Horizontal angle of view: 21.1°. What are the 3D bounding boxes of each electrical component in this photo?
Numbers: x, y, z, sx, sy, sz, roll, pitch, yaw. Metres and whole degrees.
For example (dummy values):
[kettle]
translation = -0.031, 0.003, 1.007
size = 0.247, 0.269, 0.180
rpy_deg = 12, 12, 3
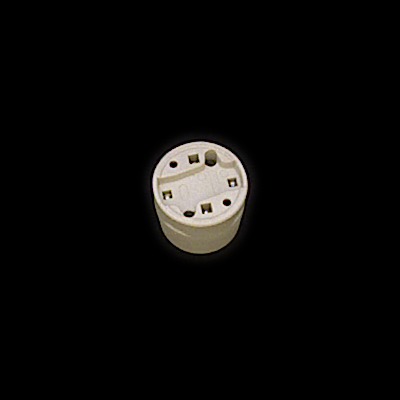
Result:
[electrical component]
translation = 0.000, 0.000, 0.635
size = 0.055, 0.056, 0.047
rpy_deg = 0, -27, 0
